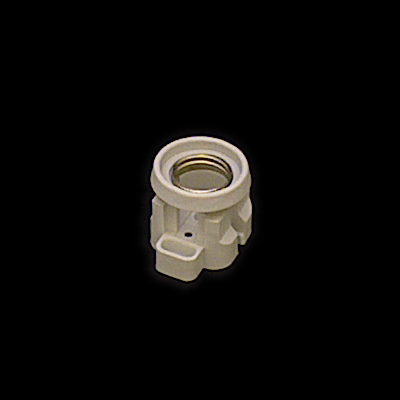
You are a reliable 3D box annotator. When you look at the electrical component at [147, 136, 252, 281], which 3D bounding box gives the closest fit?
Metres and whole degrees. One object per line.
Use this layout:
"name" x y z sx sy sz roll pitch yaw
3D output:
"electrical component" 0.000 0.000 0.633 0.057 0.057 0.078 18 45 18
